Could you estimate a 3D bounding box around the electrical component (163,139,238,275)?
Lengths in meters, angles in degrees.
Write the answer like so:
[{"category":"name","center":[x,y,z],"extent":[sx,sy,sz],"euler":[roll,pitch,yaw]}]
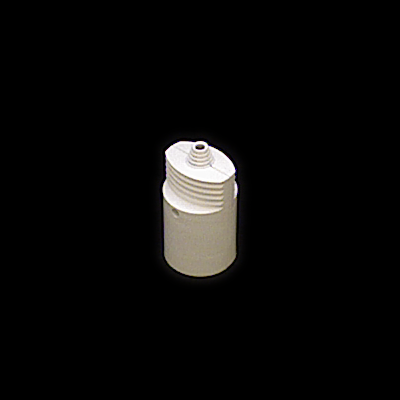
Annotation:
[{"category":"electrical component","center":[0.000,0.000,0.624],"extent":[0.043,0.082,0.042],"euler":[0,42,0]}]
